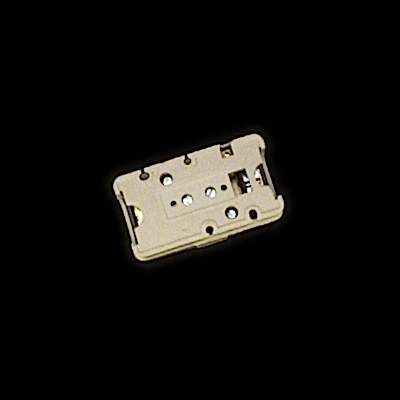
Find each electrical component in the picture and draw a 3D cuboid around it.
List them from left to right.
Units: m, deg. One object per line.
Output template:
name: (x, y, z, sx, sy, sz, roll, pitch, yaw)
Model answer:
electrical component: (0.000, 0.000, 0.637, 0.090, 0.050, 0.055, -18, -6, -2)
